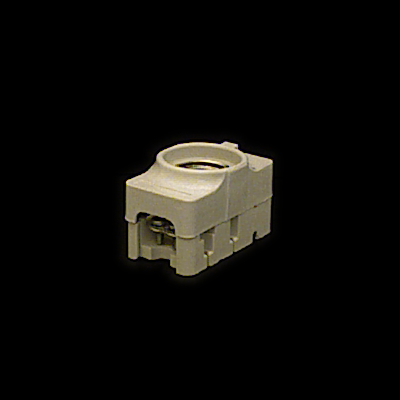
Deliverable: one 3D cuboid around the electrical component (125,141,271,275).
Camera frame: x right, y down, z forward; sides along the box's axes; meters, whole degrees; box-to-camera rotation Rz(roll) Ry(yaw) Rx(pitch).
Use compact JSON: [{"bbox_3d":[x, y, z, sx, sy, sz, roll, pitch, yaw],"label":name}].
[{"bbox_3d":[0.000,0.000,0.646,0.049,0.056,0.089,16,26,32],"label":"electrical component"}]
